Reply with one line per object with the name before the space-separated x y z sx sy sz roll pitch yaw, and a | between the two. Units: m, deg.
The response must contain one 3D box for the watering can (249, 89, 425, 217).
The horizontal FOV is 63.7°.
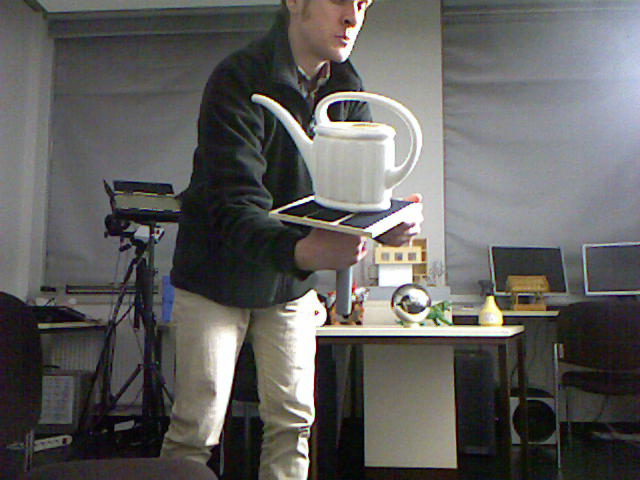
watering can | 0.019 -0.157 0.919 0.349 0.221 0.105 13 23 30
